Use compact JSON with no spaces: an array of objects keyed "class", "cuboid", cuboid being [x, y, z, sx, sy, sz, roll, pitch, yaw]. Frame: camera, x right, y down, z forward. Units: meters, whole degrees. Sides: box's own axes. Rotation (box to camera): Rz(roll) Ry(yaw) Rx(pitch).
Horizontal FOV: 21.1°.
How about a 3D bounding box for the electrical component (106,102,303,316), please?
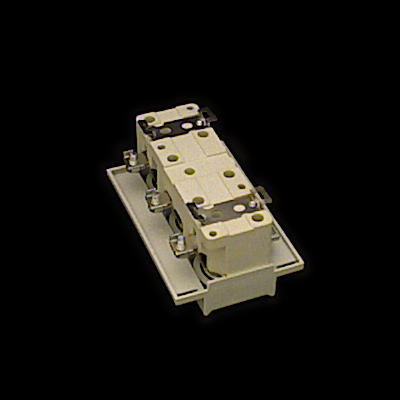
[{"class":"electrical component","cuboid":[0.000,0.000,0.639,0.079,0.063,0.119,-15,45,-17]}]
